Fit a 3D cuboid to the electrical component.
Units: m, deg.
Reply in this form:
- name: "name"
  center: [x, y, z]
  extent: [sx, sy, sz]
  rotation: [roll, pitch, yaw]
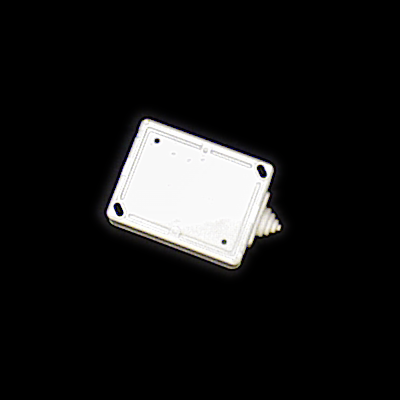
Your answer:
- name: "electrical component"
  center: [0.000, 0.000, 0.627]
  extent: [0.096, 0.062, 0.061]
  rotation: [20, -7, 3]
